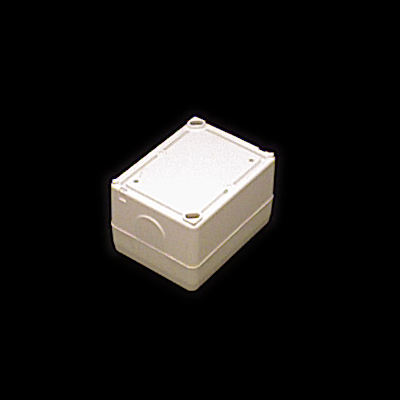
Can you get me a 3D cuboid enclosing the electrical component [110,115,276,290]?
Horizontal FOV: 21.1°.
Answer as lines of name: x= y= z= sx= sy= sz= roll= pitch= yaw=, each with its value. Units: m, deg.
electrical component: x=0.000 y=0.000 z=0.631 sx=0.061 sy=0.061 sz=0.096 roll=27 pitch=47 yaw=26
